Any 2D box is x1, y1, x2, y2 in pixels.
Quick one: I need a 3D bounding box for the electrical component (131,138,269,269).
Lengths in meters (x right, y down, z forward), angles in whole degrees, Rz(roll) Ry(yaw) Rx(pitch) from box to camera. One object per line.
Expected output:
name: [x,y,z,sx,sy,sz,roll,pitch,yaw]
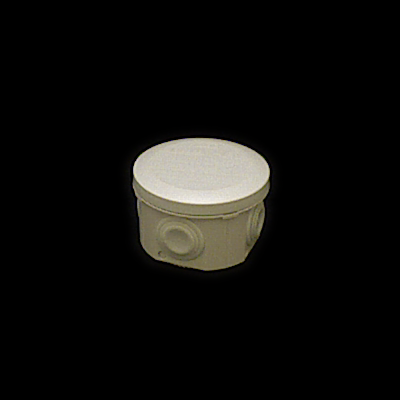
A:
electrical component: [0.000,0.000,0.636,0.080,0.051,0.079,1,31,0]
